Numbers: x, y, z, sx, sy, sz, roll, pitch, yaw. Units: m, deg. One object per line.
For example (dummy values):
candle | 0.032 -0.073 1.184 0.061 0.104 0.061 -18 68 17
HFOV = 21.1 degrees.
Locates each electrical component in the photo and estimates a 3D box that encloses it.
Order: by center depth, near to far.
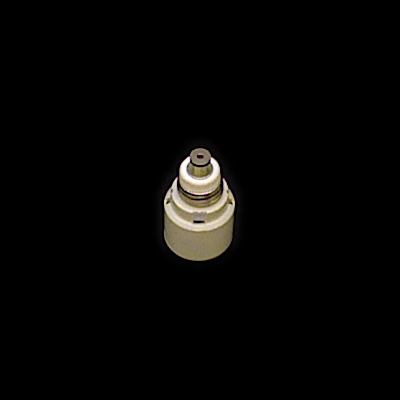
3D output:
electrical component | 0.000 0.000 0.621 0.040 0.040 0.079 0 -38 -2
